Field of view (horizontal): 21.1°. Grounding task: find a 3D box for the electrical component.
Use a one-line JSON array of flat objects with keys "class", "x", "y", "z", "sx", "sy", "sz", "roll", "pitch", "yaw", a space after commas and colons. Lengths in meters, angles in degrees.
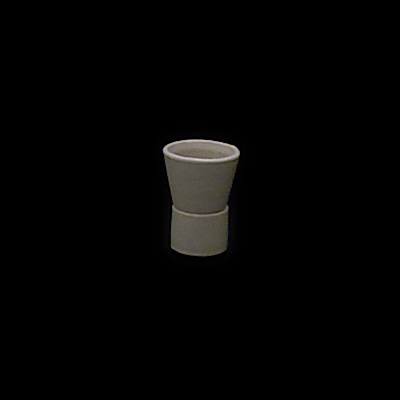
[{"class": "electrical component", "x": 0.000, "y": 0.000, "z": 0.640, "sx": 0.044, "sy": 0.066, "sz": 0.044, "roll": 1, "pitch": 20, "yaw": 0}]
